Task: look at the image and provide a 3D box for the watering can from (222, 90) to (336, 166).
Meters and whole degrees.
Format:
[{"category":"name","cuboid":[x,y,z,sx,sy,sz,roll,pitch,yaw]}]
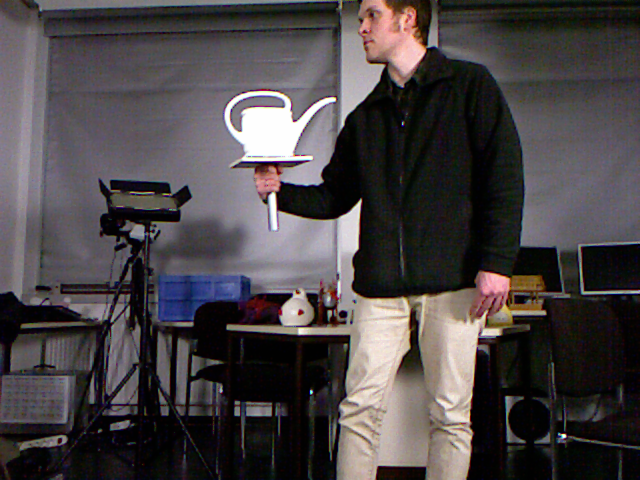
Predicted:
[{"category":"watering can","cuboid":[-0.113,-0.332,1.531,0.349,0.223,0.105,-5,9,-16]}]
